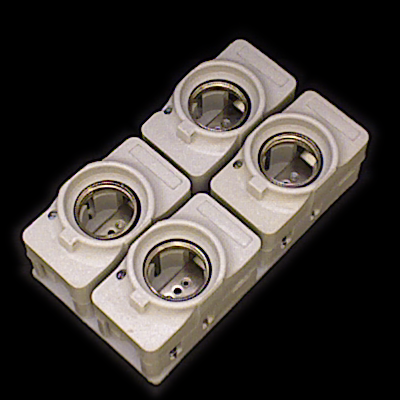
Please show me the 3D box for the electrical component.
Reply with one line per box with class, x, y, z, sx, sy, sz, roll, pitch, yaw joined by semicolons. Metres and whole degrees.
electrical component;0.000;0.000;0.625;0.105;0.187;0.060;40;-21;18
